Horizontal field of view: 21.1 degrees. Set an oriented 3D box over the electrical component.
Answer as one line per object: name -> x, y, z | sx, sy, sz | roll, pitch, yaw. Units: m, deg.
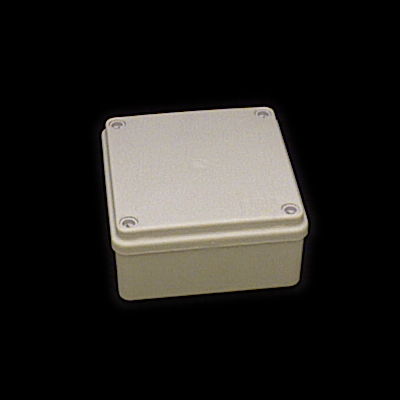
electrical component -> 0.000, 0.000, 0.633 | 0.109, 0.057, 0.107 | -5, 42, -6
